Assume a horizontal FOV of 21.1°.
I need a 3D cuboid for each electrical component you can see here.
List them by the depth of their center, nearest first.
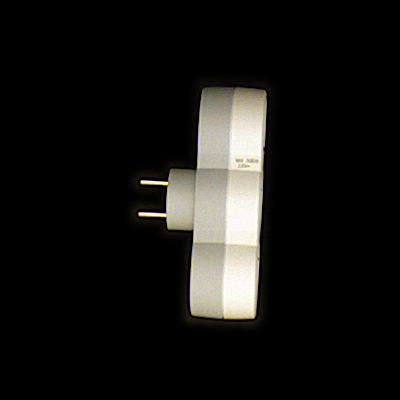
[{"bbox_3d":[0.000,0.000,0.639,0.074,0.138,0.052,3,-6,2],"label":"electrical component"}]
